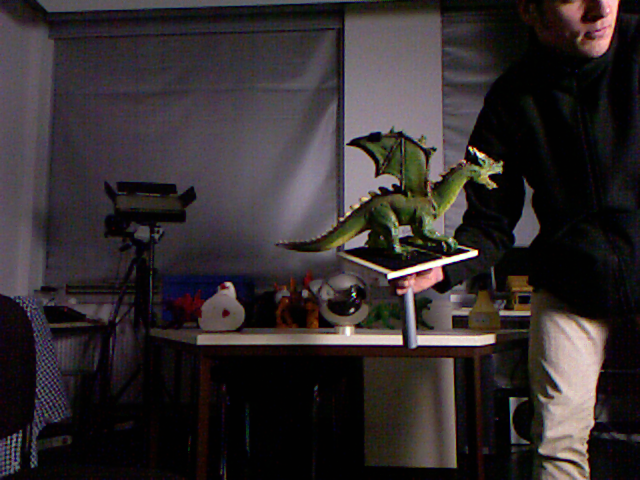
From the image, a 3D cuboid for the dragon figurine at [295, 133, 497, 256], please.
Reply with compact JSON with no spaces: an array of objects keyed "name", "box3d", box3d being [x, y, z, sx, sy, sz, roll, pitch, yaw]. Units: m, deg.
[{"name":"dragon figurine","box3d":[0.137,-0.091,1.000,0.410,0.239,0.124,-5,20,7]}]
